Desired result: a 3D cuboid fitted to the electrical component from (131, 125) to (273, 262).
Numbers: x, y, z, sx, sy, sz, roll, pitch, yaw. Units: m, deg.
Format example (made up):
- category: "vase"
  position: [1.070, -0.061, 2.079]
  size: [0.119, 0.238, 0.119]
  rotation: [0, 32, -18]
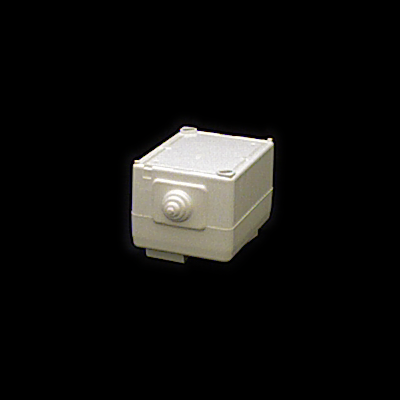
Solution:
- category: "electrical component"
  position: [0.000, 0.000, 0.631]
  size: [0.061, 0.061, 0.095]
  rotation: [9, 22, 19]
